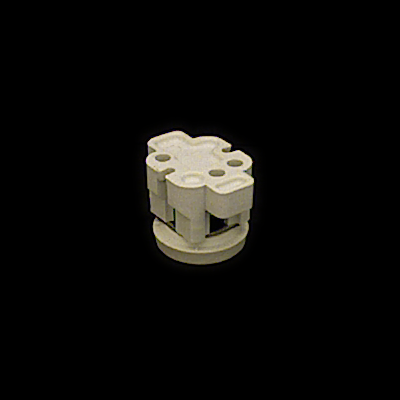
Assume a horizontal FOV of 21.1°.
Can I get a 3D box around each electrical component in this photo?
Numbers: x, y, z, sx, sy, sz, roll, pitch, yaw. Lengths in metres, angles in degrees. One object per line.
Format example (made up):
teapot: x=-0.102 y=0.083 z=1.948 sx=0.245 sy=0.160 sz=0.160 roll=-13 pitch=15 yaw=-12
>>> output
electrical component: x=0.000 y=0.000 z=0.642 sx=0.058 sy=0.057 sz=0.077 roll=-22 pitch=38 yaw=-31
